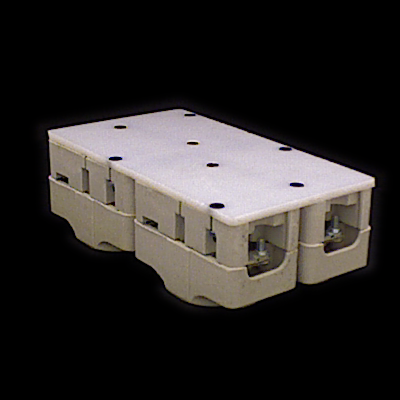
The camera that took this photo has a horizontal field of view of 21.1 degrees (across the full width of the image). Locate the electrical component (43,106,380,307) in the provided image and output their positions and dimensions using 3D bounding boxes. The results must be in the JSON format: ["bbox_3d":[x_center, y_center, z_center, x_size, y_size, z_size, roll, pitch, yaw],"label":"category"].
[{"bbox_3d":[0.000,0.000,0.638,0.105,0.061,0.184,-14,25,-35],"label":"electrical component"}]
